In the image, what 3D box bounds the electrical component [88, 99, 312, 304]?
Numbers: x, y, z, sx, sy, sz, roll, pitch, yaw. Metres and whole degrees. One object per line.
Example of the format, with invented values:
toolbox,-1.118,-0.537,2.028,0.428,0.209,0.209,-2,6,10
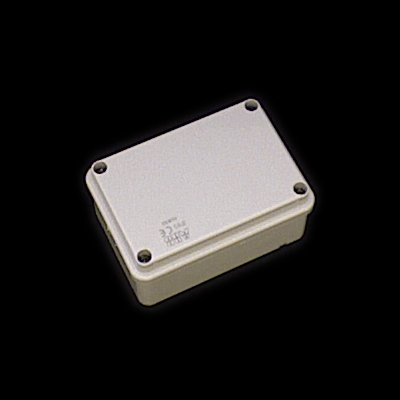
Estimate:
electrical component,0.000,0.000,0.626,0.113,0.078,0.057,-23,-25,-12
